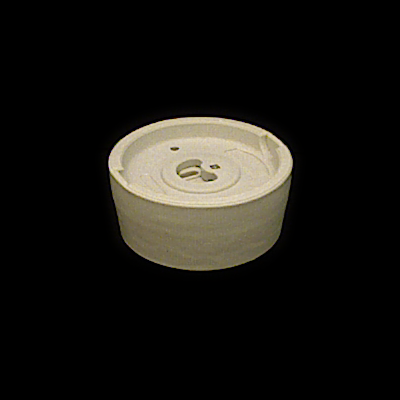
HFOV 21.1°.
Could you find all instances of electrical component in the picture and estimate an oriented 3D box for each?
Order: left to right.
[{"bbox_3d":[0.000,0.000,0.645,0.108,0.061,0.106,1,32,0],"label":"electrical component"}]
